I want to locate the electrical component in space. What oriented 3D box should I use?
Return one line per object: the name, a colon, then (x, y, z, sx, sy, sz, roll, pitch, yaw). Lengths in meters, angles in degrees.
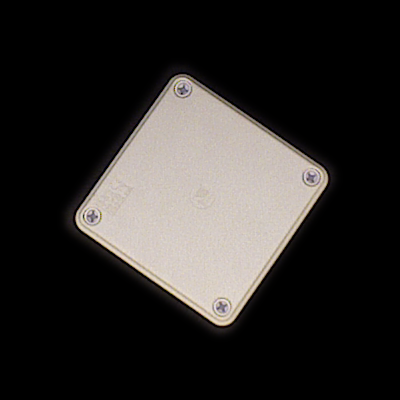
electrical component: (0.000, 0.000, 0.631, 0.109, 0.109, 0.056, 35, -5, 3)
